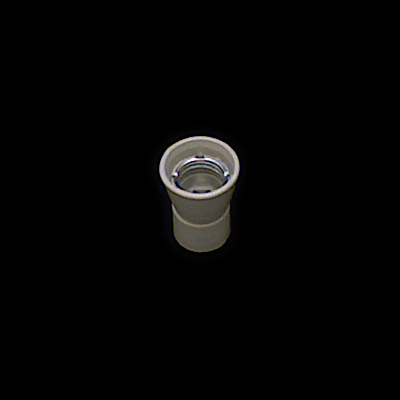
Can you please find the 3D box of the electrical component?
[{"bbox_3d":[0.000,0.000,0.626,0.044,0.044,0.065,0,-37,1],"label":"electrical component"}]
